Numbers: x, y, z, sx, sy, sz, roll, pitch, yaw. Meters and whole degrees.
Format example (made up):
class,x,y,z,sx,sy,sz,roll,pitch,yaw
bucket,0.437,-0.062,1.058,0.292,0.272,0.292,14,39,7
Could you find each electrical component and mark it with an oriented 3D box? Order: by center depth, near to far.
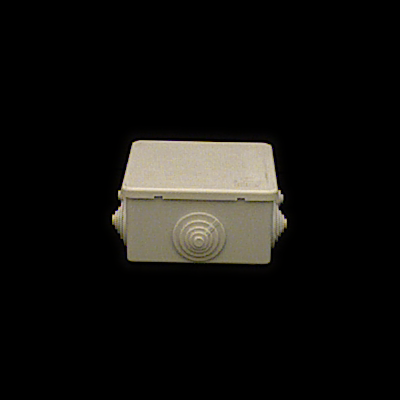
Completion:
class,x,y,z,sx,sy,sz,roll,pitch,yaw
electrical component,0.000,0.000,0.648,0.100,0.049,0.098,1,22,0
